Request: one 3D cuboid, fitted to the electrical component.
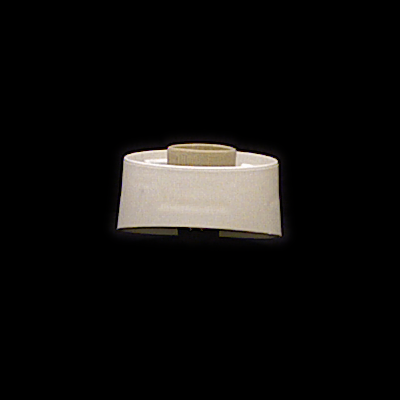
[{"bbox_3d":[0.000,0.000,0.643,0.099,0.064,0.098,1,10,0],"label":"electrical component"}]
